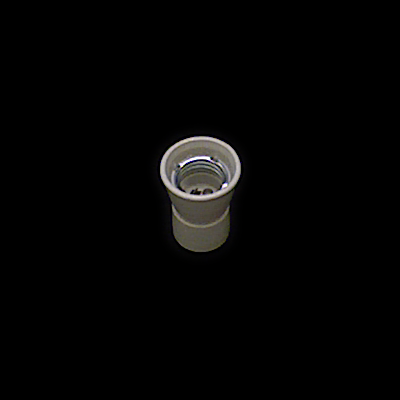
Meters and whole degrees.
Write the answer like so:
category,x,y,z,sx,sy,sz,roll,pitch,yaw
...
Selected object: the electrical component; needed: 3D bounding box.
category,x,y,z,sx,sy,sz,roll,pitch,yaw
electrical component,0.000,0.000,0.625,0.044,0.044,0.065,0,-36,0
